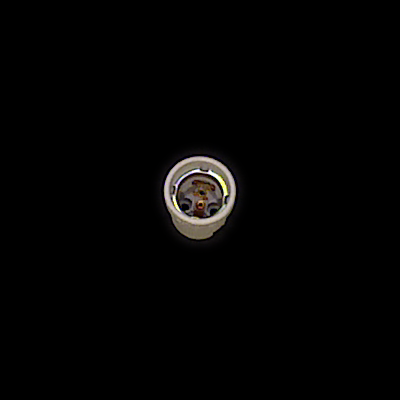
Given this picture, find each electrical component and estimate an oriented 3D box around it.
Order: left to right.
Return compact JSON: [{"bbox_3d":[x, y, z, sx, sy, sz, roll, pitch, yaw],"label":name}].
[{"bbox_3d":[0.000,0.000,0.627,0.040,0.040,0.046,0,-17,-1],"label":"electrical component"}]
